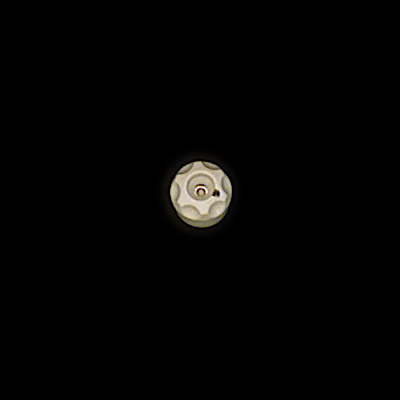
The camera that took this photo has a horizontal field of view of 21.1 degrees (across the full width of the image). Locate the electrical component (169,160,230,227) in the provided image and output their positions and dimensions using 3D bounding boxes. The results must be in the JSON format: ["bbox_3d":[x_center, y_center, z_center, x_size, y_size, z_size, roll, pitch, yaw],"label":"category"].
[{"bbox_3d":[0.000,0.000,0.633,0.035,0.035,0.061,0,-15,1],"label":"electrical component"}]
